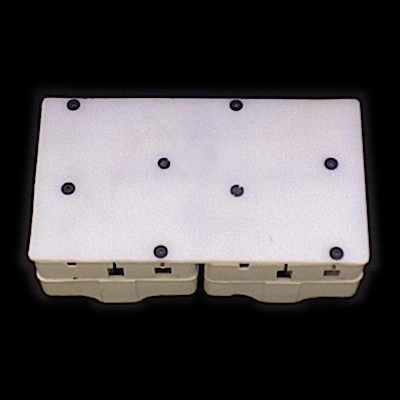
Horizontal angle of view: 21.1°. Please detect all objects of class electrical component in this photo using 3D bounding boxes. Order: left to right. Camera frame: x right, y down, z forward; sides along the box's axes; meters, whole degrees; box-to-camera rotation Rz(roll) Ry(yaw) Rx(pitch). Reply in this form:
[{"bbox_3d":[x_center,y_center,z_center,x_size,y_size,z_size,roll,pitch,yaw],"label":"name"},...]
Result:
[{"bbox_3d":[0.000,0.000,0.626,0.186,0.105,0.060,1,-27,0],"label":"electrical component"}]
